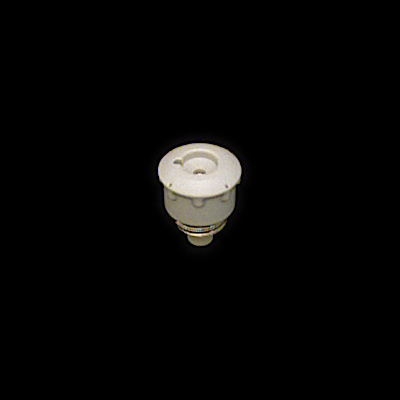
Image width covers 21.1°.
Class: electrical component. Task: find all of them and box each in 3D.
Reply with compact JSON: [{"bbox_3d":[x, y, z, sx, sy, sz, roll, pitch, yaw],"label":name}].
[{"bbox_3d":[0.000,0.000,0.635,0.048,0.062,0.048,1,42,0],"label":"electrical component"}]
